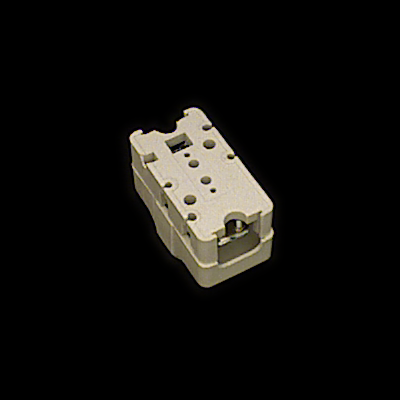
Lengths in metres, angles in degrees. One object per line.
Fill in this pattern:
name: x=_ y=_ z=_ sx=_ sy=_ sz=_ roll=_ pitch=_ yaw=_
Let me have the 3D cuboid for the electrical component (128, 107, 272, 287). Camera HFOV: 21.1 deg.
electrical component: x=0.000 y=0.000 z=0.637 sx=0.050 sy=0.089 sz=0.056 roll=-25 pitch=-33 yaw=-17
